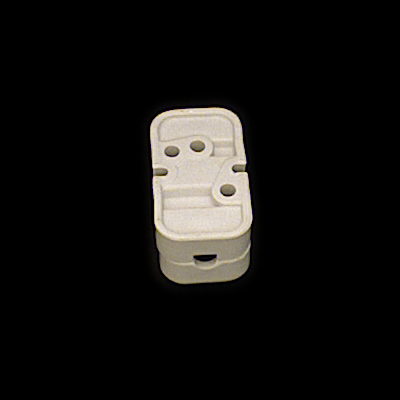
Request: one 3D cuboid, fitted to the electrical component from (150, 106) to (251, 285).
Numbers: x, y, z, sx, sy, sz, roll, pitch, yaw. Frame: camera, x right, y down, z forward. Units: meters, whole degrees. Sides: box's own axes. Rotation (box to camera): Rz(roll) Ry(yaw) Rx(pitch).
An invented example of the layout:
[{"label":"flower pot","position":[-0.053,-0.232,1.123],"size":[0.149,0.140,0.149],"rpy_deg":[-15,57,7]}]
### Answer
[{"label":"electrical component","position":[0.000,0.000,0.634],"size":[0.054,0.094,0.059],"rpy_deg":[-3,-36,-2]}]
